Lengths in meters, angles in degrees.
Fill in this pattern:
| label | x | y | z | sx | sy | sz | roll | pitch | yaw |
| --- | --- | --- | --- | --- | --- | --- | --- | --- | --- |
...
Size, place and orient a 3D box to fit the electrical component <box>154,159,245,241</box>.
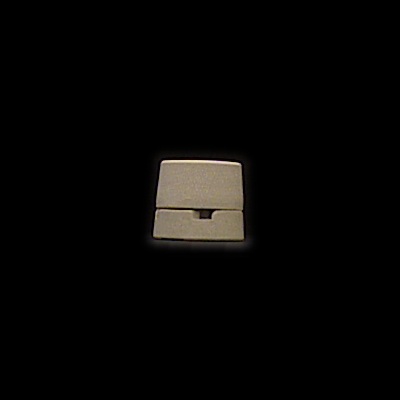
| label | x | y | z | sx | sy | sz | roll | pitch | yaw |
| --- | --- | --- | --- | --- | --- | --- | --- | --- | --- |
| electrical component | 0.000 | 0.000 | 0.651 | 0.055 | 0.047 | 0.055 | 2 | 0 | 0 |
